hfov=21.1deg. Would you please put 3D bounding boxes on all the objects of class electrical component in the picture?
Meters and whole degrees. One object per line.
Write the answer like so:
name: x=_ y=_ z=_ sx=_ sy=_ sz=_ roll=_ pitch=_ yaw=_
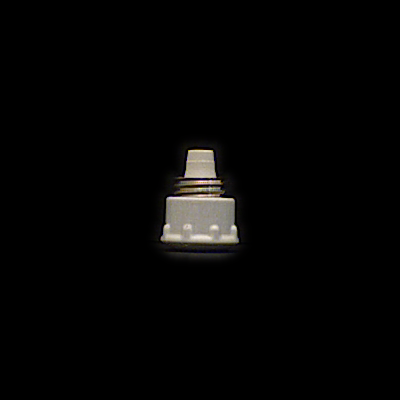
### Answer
electrical component: x=0.000 y=0.000 z=0.657 sx=0.048 sy=0.062 sz=0.048 roll=1 pitch=1 yaw=1
